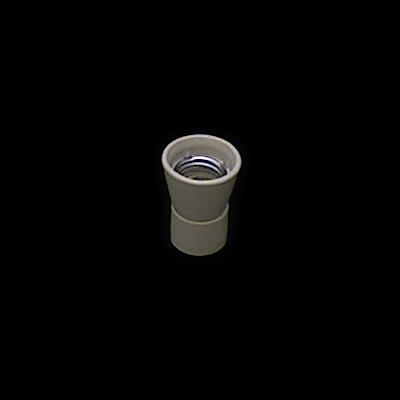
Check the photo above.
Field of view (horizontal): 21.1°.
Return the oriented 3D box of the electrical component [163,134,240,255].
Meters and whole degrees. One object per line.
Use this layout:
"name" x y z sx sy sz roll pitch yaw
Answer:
"electrical component" 0.000 0.000 0.630 0.044 0.066 0.044 1 41 -1
